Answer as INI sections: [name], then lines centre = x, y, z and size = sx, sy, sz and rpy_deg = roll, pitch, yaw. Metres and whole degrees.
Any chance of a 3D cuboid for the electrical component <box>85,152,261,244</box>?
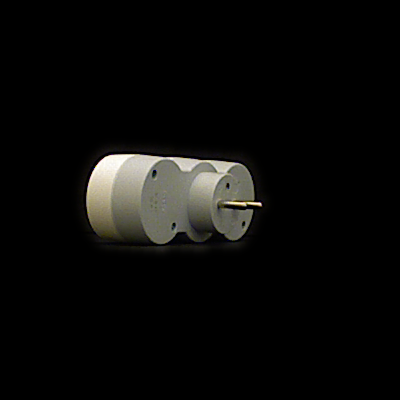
[electrical component]
centre = 0.000, 0.000, 0.654
size = 0.073, 0.052, 0.139
rpy_deg = 4, 2, 30
